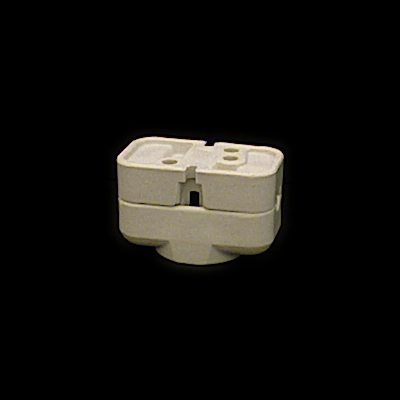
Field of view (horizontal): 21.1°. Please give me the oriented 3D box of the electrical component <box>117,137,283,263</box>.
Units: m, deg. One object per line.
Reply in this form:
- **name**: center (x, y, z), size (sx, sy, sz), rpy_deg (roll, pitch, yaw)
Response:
- **electrical component**: center (0.000, 0.000, 0.648), size (0.095, 0.060, 0.053), rpy_deg (5, 22, 11)
